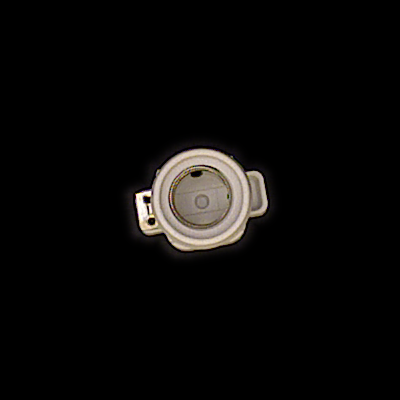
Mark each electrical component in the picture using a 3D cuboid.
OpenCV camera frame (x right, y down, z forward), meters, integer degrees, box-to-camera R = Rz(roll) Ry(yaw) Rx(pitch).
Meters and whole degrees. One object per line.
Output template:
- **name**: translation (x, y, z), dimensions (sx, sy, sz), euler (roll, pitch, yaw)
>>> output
- **electrical component**: translation (0.000, 0.000, 0.630), dimensions (0.078, 0.058, 0.056), euler (-10, -6, -1)
